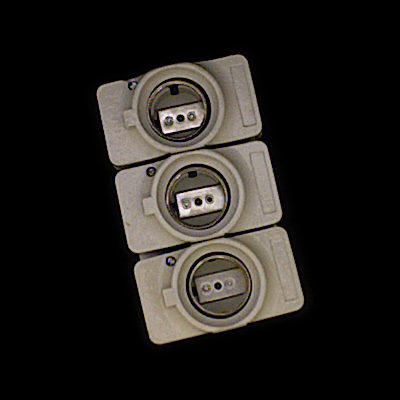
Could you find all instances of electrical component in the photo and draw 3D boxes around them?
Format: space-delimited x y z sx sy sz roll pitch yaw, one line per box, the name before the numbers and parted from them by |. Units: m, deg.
electrical component | 0.000 0.000 0.632 0.089 0.150 0.061 -13 -6 -1
